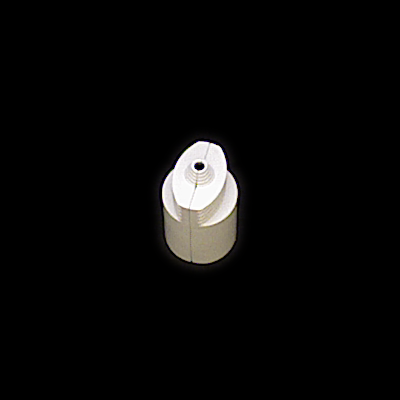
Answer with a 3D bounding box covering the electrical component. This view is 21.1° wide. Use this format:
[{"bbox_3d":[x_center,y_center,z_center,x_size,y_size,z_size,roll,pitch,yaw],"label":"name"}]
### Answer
[{"bbox_3d":[0.000,0.000,0.618,0.043,0.043,0.081,0,-28,0],"label":"electrical component"}]
